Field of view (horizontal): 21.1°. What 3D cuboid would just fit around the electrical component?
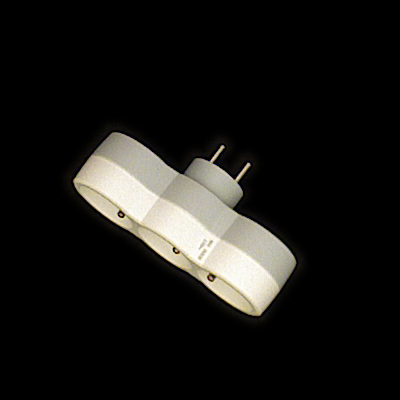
[{"bbox_3d":[0.000,0.000,0.638,0.138,0.074,0.052,35,-15,9],"label":"electrical component"}]
